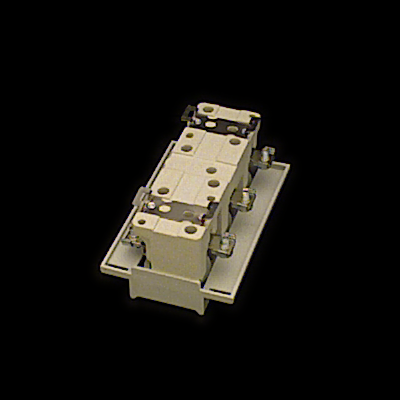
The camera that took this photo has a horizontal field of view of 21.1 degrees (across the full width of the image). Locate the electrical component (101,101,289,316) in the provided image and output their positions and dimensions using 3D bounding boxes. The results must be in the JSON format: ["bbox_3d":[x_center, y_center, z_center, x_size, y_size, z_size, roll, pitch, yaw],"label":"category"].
[{"bbox_3d":[0.000,0.000,0.638,0.078,0.063,0.121,12,43,13],"label":"electrical component"}]
